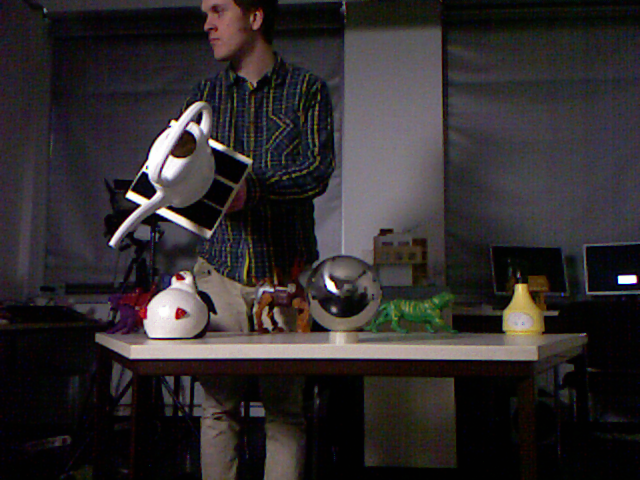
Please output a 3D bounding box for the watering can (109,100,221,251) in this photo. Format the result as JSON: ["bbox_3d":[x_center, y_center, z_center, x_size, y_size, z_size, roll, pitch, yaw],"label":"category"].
[{"bbox_3d":[-0.302,-0.122,1.051,0.104,0.351,0.222,26,-11,6],"label":"watering can"}]
